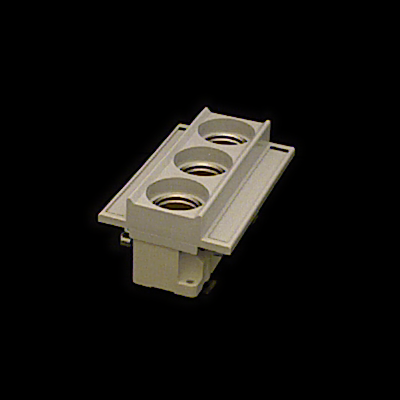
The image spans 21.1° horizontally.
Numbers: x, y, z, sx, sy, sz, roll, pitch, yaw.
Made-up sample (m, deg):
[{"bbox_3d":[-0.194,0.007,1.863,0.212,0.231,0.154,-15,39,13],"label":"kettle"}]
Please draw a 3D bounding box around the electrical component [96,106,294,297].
[{"bbox_3d":[0.000,0.000,0.647,0.078,0.064,0.120,13,34,17],"label":"electrical component"}]
